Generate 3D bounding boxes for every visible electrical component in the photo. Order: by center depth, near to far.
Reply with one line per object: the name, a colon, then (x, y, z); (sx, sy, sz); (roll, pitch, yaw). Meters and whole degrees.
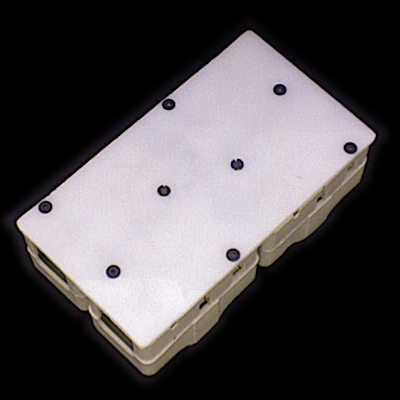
electrical component: (0.000, 0.000, 0.625); (0.187, 0.105, 0.060); (-41, -20, -19)
